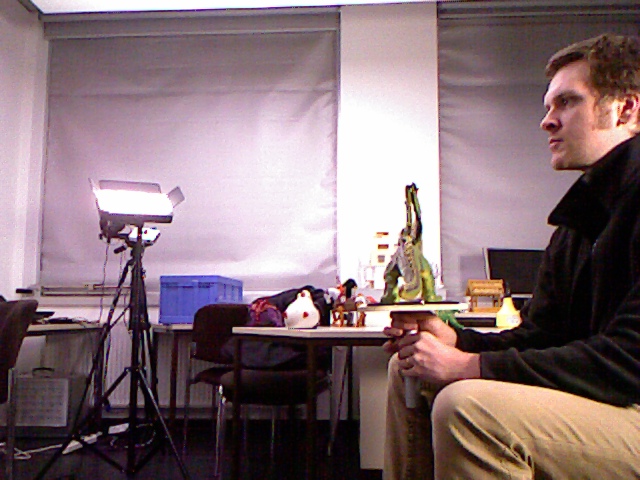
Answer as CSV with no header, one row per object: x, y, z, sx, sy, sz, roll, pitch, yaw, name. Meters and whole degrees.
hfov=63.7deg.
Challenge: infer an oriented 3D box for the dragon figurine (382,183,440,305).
0.184,0.003,1.058,0.122,0.244,0.409,-2,-4,7,dragon figurine
